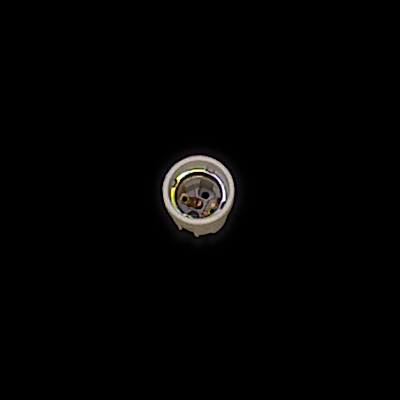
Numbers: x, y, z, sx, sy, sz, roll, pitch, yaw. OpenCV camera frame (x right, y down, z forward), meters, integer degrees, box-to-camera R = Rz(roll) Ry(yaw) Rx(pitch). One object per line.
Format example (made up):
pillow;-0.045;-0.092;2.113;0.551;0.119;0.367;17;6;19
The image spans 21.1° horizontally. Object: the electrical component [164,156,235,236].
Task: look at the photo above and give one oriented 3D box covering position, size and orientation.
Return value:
electrical component;0.000;0.000;0.626;0.040;0.040;0.046;0;-17;0
